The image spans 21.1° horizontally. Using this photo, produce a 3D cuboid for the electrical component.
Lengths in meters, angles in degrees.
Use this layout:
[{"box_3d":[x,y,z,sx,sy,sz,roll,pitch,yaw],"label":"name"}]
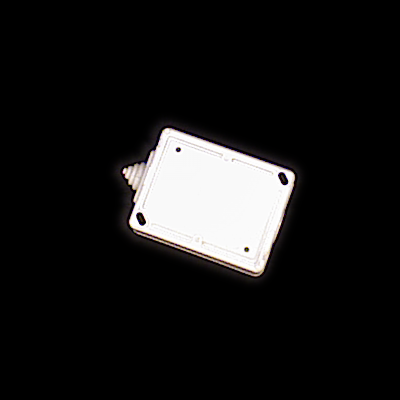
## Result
[{"box_3d":[0.000,0.000,0.630,0.096,0.062,0.061,20,-6,4],"label":"electrical component"}]
